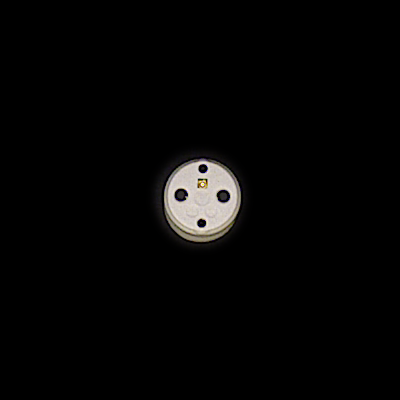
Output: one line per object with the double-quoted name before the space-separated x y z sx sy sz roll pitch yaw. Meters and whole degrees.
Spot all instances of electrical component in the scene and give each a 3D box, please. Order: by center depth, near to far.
"electrical component" 0.000 0.000 0.630 0.045 0.045 0.055 0 -6 0
